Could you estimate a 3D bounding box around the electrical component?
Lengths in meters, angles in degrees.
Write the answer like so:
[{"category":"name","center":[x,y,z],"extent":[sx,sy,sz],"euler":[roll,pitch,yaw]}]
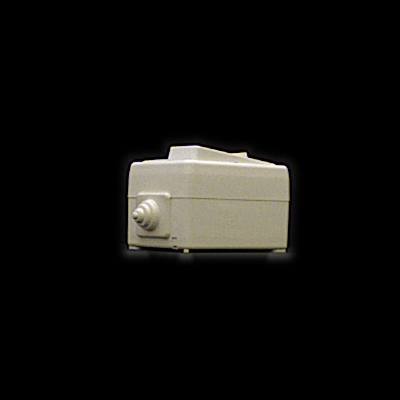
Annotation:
[{"category":"electrical component","center":[0.000,0.000,0.648],"extent":[0.096,0.061,0.061],"euler":[2,0,-38]}]
